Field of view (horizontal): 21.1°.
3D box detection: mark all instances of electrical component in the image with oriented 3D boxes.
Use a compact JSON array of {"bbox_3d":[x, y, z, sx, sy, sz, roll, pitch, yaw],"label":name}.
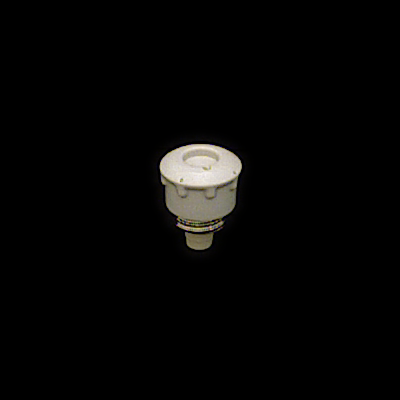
[{"bbox_3d":[0.000,0.000,0.642,0.048,0.063,0.047,1,32,0],"label":"electrical component"}]
